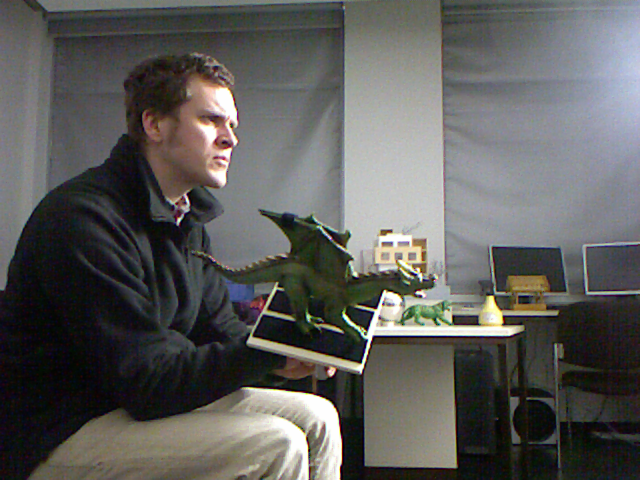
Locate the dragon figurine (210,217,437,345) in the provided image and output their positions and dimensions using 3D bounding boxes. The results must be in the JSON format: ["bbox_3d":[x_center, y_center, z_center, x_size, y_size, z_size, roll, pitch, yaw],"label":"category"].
[{"bbox_3d":[-0.021,0.040,0.841,0.413,0.125,0.238,14,-39,14],"label":"dragon figurine"}]
